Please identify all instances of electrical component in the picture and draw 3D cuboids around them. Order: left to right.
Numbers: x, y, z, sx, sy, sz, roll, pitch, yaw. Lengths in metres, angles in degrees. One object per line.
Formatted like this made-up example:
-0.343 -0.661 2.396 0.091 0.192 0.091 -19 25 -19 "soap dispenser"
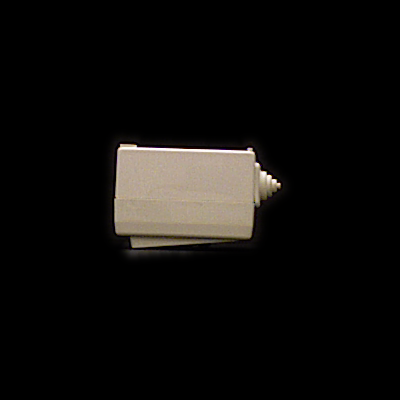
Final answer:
-0.001 0.000 0.647 0.096 0.061 0.061 2 1 4 "electrical component"
